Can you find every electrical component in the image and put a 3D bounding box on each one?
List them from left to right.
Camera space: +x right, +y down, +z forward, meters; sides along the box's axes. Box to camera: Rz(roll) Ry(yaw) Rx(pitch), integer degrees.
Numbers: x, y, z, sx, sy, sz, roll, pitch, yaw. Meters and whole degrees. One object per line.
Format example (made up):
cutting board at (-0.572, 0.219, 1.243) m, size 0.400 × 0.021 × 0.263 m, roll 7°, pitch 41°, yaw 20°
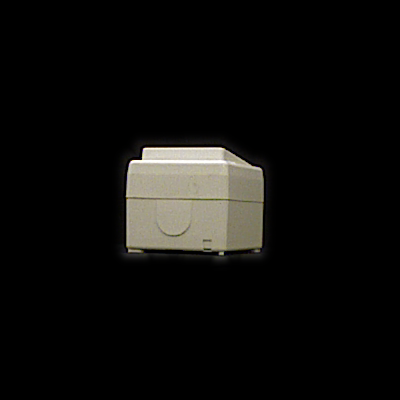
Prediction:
electrical component at (0.000, 0.000, 0.652) m, size 0.061 × 0.061 × 0.096 m, roll 1°, pitch 0°, yaw 19°
